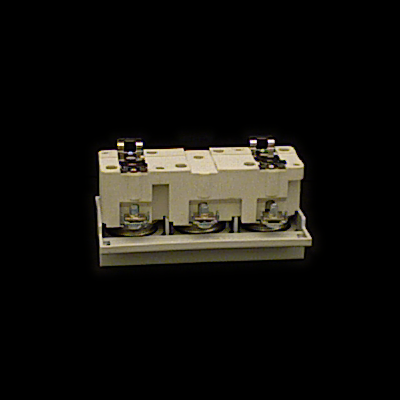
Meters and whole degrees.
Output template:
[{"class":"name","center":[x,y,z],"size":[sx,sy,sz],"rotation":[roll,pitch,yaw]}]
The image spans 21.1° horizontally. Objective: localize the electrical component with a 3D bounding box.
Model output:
[{"class":"electrical component","center":[0.000,0.000,0.643],"size":[0.122,0.064,0.077],"rotation":[-2,22,-8]}]
